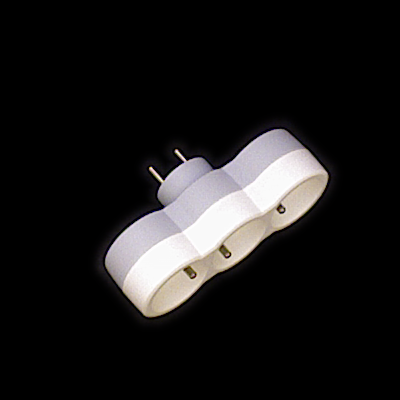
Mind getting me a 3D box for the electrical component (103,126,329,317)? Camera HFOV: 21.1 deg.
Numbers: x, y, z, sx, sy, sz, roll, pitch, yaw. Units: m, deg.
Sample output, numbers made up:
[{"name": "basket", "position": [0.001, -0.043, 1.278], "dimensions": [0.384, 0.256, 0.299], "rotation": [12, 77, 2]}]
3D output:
[{"name": "electrical component", "position": [0.000, 0.000, 0.629], "dimensions": [0.139, 0.074, 0.052], "rotation": [-35, -24, -16]}]
